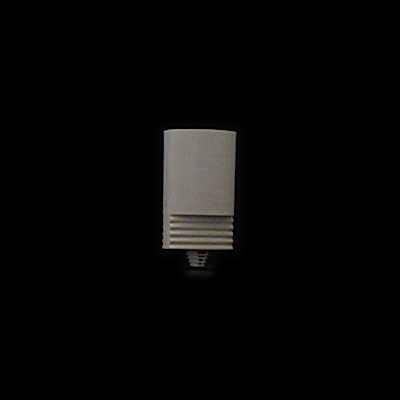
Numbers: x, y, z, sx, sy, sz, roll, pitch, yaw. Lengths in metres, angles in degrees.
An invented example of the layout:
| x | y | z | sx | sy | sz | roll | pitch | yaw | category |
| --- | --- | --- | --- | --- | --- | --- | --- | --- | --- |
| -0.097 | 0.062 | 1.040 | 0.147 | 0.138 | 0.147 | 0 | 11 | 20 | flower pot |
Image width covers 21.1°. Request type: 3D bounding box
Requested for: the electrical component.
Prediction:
| x | y | z | sx | sy | sz | roll | pitch | yaw | category |
| --- | --- | --- | --- | --- | --- | --- | --- | --- | --- |
| 0.000 | 0.000 | 0.646 | 0.043 | 0.081 | 0.043 | 0 | 1 | 0 | electrical component |
